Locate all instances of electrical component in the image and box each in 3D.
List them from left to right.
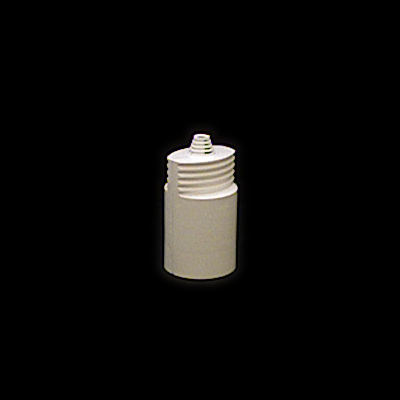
[{"bbox_3d":[0.000,0.000,0.635,0.043,0.082,0.042,1,21,0],"label":"electrical component"}]
